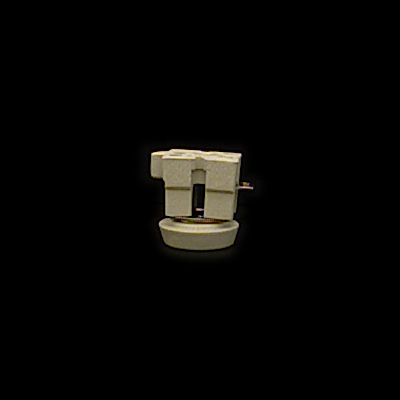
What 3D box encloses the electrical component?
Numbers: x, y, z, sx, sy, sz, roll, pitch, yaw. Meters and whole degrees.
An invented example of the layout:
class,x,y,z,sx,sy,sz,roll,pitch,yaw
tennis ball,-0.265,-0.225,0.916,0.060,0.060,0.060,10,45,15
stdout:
class,x,y,z,sx,sy,sz,roll,pitch,yaw
electrical component,0.000,0.000,0.651,0.066,0.056,0.048,3,11,5
